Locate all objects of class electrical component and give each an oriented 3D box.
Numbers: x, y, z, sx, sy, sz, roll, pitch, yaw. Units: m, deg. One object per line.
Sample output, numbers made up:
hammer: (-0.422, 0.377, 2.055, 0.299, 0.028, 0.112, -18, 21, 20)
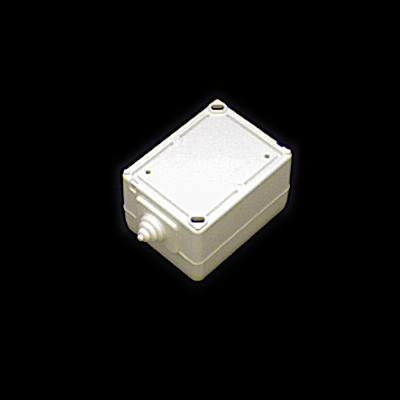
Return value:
electrical component: (-0.001, 0.000, 0.623, 0.061, 0.061, 0.096, 37, 60, 24)
